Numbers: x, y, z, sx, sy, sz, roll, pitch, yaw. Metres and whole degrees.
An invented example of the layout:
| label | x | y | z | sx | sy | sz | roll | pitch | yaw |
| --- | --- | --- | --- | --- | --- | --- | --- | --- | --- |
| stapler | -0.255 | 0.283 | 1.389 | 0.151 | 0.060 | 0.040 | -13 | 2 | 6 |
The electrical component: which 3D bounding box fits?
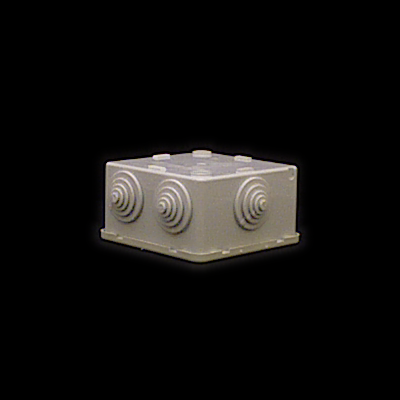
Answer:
| label | x | y | z | sx | sy | sz | roll | pitch | yaw |
| --- | --- | --- | --- | --- | --- | --- | --- | --- | --- |
| electrical component | 0.000 | 0.000 | 0.645 | 0.100 | 0.049 | 0.099 | -9 | 15 | -44 |
